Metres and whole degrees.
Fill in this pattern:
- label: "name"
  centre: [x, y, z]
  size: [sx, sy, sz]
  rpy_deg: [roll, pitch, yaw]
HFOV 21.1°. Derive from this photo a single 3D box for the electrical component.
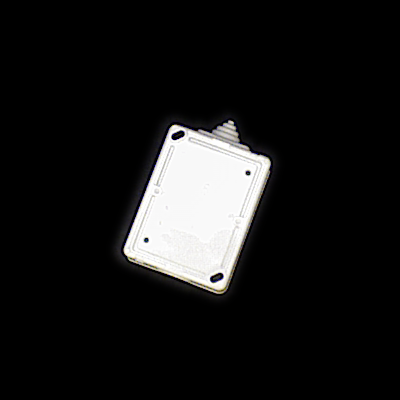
- label: "electrical component"
  centre: [0.001, 0.000, 0.627]
  size: [0.062, 0.096, 0.061]
  rpy_deg: [20, -6, 3]
